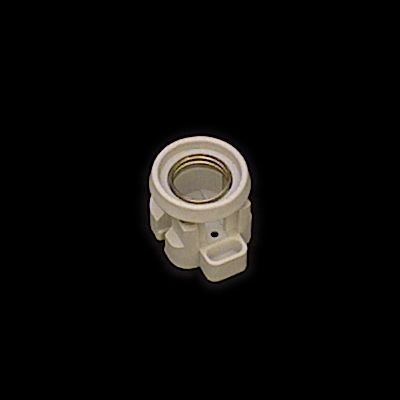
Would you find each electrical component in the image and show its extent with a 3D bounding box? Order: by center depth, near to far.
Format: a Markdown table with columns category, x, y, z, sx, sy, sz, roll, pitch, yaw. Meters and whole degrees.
| category | x | y | z | sx | sy | sz | roll | pitch | yaw |
| --- | --- | --- | --- | --- | --- | --- | --- | --- | --- |
| electrical component | 0.000 | 0.000 | 0.630 | 0.058 | 0.078 | 0.057 | -22 | -34 | -16 |
